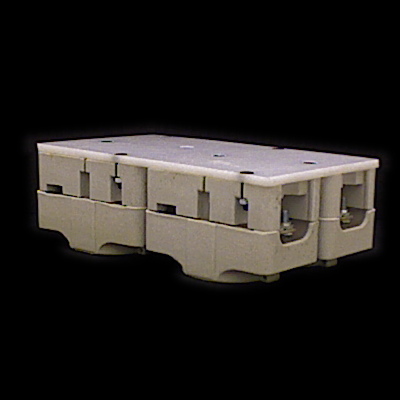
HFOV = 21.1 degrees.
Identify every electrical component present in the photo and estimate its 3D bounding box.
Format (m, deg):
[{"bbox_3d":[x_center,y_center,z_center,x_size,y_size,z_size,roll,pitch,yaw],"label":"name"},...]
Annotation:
[{"bbox_3d":[0.000,0.000,0.644,0.185,0.060,0.105,10,13,41],"label":"electrical component"}]
